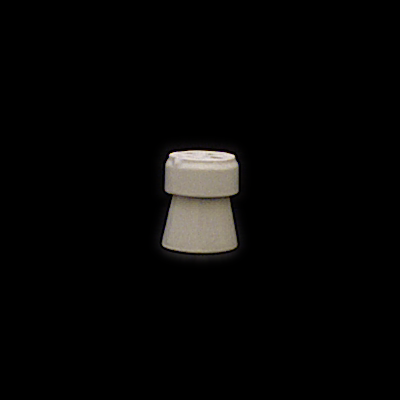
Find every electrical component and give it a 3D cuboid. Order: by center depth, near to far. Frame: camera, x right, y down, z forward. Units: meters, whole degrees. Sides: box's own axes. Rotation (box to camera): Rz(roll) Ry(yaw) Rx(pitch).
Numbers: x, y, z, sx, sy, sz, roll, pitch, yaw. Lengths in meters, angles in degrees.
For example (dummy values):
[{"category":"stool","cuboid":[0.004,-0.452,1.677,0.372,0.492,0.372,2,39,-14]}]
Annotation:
[{"category":"electrical component","cuboid":[0.000,0.000,0.644,0.045,0.055,0.044,1,12,0]}]
